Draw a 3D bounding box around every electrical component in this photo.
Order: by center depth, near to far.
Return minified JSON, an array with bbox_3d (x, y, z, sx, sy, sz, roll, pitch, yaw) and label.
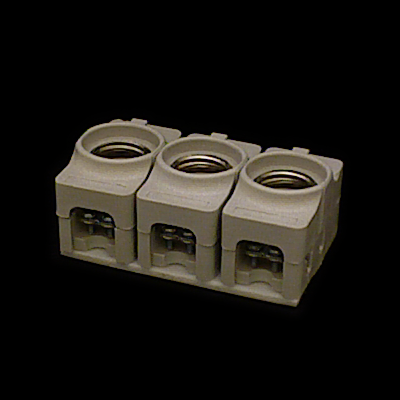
[{"bbox_3d":[0.000,0.000,0.642,0.149,0.063,0.088,12,32,16],"label":"electrical component"}]
